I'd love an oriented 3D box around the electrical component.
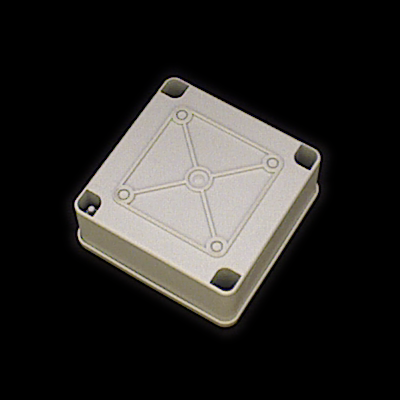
[{"bbox_3d":[0.000,0.000,0.627,0.108,0.109,0.056,29,-23,14],"label":"electrical component"}]
